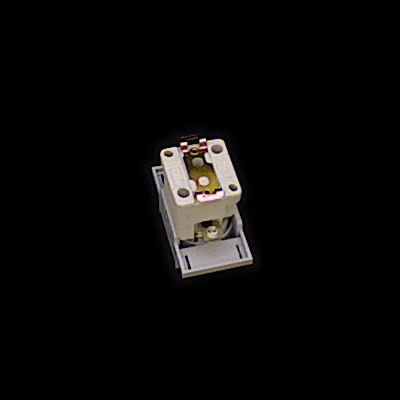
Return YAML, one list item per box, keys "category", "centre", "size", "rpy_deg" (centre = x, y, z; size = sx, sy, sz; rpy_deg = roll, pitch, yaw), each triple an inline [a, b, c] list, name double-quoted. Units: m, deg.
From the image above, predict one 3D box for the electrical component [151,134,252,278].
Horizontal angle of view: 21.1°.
- category: "electrical component"
  centre: [0.000, 0.000, 0.627]
  size: [0.042, 0.080, 0.064]
  rpy_deg: [-12, -37, -9]
